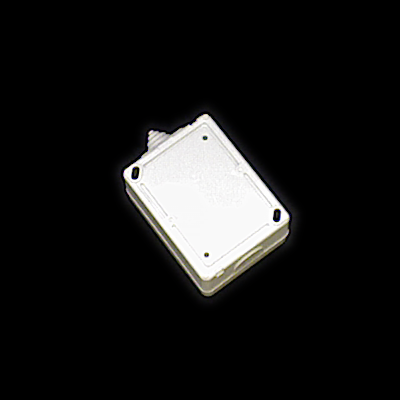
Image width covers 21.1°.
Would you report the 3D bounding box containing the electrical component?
[{"bbox_3d":[0.000,0.000,0.627,0.062,0.096,0.061,-36,-13,-9],"label":"electrical component"}]
